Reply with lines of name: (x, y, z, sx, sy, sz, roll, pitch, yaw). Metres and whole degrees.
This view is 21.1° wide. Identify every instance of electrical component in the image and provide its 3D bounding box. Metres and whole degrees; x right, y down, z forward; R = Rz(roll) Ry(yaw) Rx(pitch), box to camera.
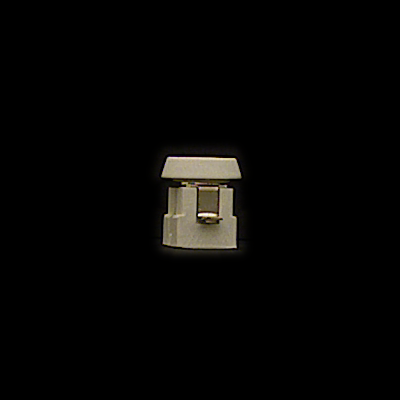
electrical component: (0.000, 0.000, 0.656, 0.048, 0.055, 0.066, -1, 2, -15)
